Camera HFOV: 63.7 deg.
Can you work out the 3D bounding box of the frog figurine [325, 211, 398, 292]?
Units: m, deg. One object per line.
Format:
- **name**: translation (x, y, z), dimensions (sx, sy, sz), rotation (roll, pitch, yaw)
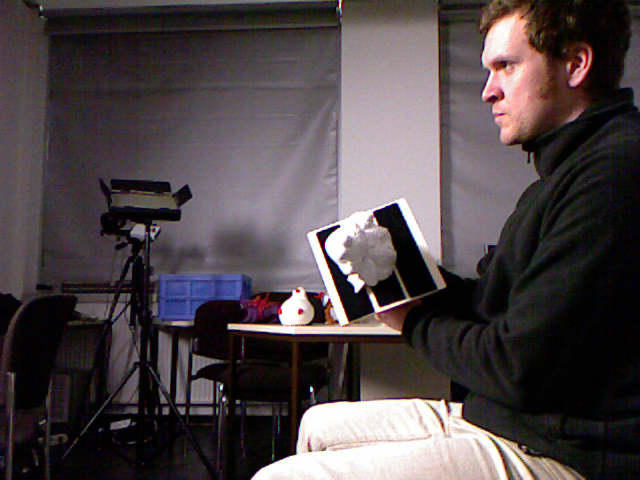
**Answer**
- **frog figurine**: translation (0.074, 0.011, 0.899), dimensions (0.123, 0.140, 0.157), rotation (2, -21, 9)
